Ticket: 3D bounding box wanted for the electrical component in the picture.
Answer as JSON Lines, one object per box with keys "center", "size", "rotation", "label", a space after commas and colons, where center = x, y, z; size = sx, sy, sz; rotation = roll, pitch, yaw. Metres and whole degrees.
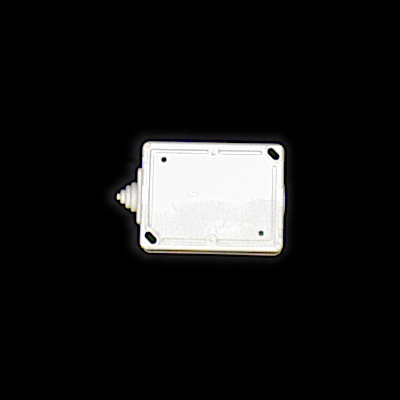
{"center": [0.000, 0.000, 0.626], "size": [0.096, 0.062, 0.061], "rotation": [1, -6, 0], "label": "electrical component"}
